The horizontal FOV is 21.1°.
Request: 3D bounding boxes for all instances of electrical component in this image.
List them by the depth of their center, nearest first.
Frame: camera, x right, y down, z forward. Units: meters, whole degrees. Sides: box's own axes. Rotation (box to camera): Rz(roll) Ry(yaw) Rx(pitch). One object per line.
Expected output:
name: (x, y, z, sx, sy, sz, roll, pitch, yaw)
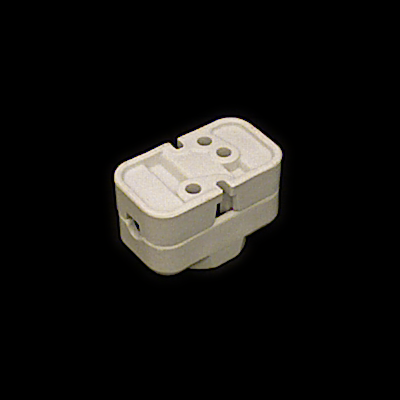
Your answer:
electrical component: (0.000, 0.000, 0.638, 0.096, 0.060, 0.053, -27, 49, -26)
